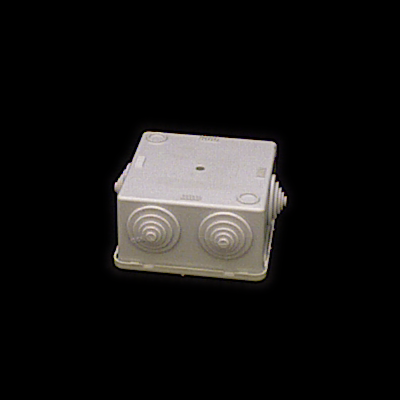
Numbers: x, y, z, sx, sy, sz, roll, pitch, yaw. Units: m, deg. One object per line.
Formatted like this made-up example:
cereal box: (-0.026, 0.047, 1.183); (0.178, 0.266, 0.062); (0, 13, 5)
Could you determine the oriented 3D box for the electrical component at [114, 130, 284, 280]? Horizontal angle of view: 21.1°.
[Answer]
electrical component: (0.000, 0.000, 0.637); (0.099, 0.049, 0.098); (5, 32, 6)
